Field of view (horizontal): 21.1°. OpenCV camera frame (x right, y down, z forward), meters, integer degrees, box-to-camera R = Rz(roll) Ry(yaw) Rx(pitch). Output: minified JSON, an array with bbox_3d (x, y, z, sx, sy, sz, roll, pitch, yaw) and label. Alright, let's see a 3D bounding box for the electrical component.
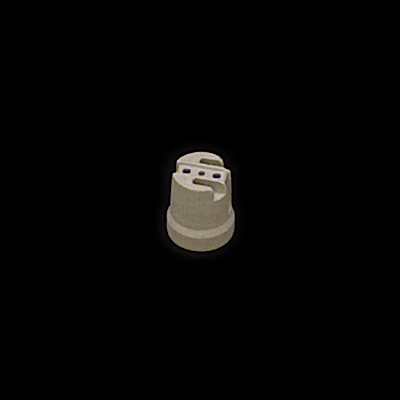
[{"bbox_3d":[0.000,0.000,0.635,0.040,0.046,0.040,0,43,0],"label":"electrical component"}]
